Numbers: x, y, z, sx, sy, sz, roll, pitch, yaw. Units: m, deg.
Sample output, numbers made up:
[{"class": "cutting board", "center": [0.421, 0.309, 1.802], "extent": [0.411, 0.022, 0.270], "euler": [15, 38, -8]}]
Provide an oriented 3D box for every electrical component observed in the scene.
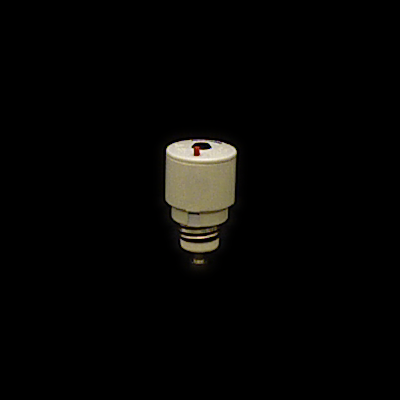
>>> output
[{"class": "electrical component", "center": [0.000, 0.000, 0.633], "extent": [0.040, 0.079, 0.039], "euler": [1, 22, 0]}]
